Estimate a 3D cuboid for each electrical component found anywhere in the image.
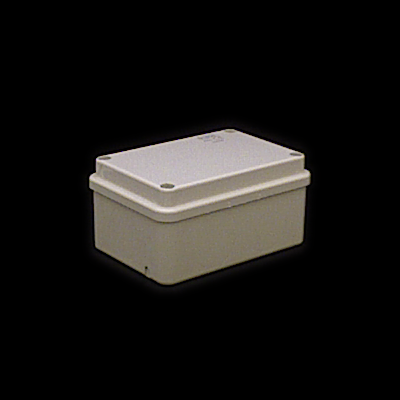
[{"bbox_3d":[0.000,0.000,0.640,0.113,0.058,0.077,-15,26,-36],"label":"electrical component"}]
